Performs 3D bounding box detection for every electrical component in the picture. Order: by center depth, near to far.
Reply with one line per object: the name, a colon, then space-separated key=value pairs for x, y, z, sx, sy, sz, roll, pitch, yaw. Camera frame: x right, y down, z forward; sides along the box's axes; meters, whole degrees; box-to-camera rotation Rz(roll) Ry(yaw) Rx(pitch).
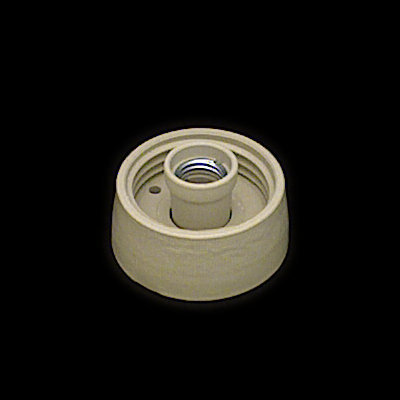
electrical component: x=0.000 y=0.000 z=0.636 sx=0.108 sy=0.061 sz=0.107 roll=1 pitch=42 yaw=0
